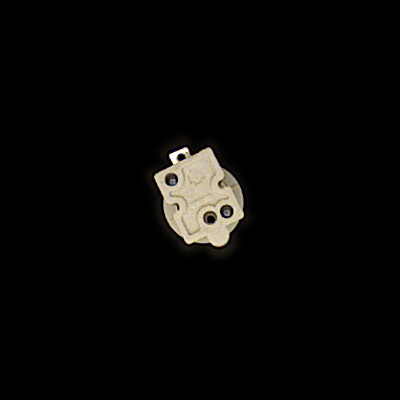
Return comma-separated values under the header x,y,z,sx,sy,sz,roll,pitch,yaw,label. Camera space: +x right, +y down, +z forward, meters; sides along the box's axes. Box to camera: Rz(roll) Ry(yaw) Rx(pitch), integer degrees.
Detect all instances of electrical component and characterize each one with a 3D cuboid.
x,y,z,sx,sy,sz,roll,pitch,yaw,label
0.000,0.000,0.639,0.048,0.066,0.055,-26,-6,0,electrical component
